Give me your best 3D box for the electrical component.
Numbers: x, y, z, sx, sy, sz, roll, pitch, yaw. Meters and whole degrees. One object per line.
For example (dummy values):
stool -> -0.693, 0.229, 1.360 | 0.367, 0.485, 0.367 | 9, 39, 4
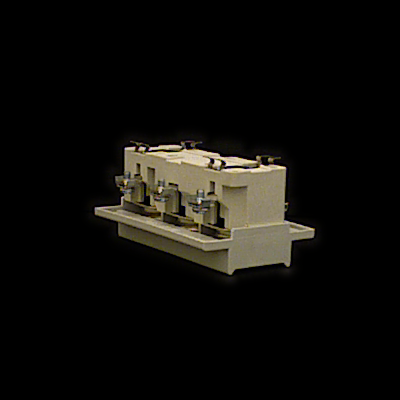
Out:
electrical component -> 0.000, 0.000, 0.654 | 0.079, 0.063, 0.120 | -6, 13, -35
